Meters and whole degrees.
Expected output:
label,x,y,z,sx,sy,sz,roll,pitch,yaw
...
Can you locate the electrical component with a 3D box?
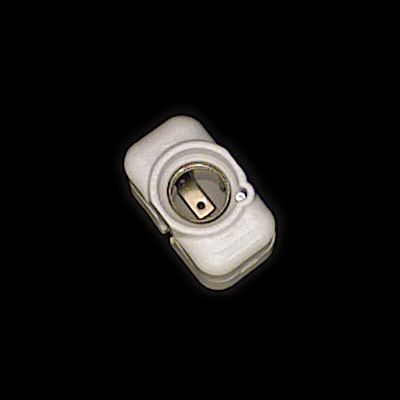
label,x,y,z,sx,sy,sz,roll,pitch,yaw
electrical component,0.000,0.000,0.634,0.054,0.095,0.059,-37,-12,-9
